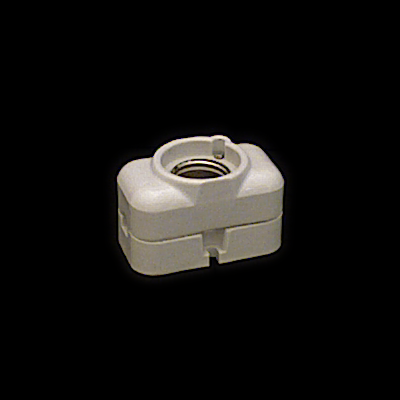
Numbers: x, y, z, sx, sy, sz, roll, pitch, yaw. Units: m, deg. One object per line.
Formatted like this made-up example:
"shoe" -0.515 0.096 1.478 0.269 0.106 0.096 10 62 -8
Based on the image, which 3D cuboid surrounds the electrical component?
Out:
"electrical component" 0.000 0.000 0.642 0.095 0.060 0.052 -10 34 -17
